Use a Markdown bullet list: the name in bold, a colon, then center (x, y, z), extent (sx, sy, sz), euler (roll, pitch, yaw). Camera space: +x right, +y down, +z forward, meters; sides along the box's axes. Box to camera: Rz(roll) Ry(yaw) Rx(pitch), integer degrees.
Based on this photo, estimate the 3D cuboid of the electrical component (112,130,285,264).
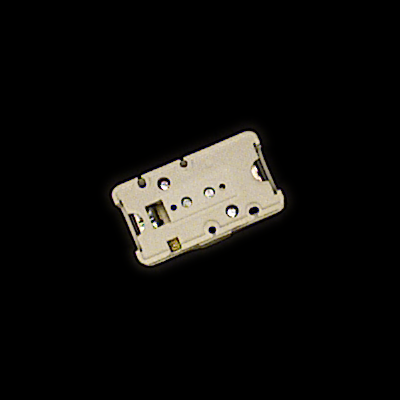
- **electrical component**: center (0.000, 0.000, 0.637), extent (0.090, 0.050, 0.055), euler (-23, -5, -2)
